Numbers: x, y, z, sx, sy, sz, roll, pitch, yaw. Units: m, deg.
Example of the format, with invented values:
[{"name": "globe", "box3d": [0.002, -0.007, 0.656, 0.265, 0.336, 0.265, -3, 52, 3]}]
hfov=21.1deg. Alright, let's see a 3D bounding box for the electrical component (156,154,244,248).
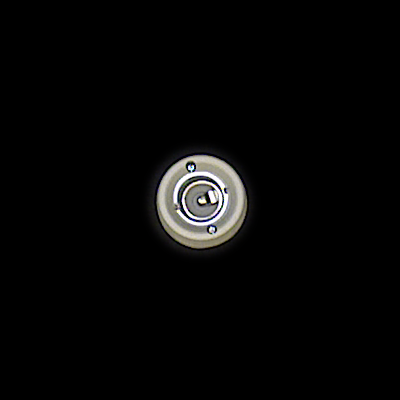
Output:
[{"name": "electrical component", "box3d": [0.000, 0.000, 0.633, 0.055, 0.055, 0.047, 0, -6, 1]}]
